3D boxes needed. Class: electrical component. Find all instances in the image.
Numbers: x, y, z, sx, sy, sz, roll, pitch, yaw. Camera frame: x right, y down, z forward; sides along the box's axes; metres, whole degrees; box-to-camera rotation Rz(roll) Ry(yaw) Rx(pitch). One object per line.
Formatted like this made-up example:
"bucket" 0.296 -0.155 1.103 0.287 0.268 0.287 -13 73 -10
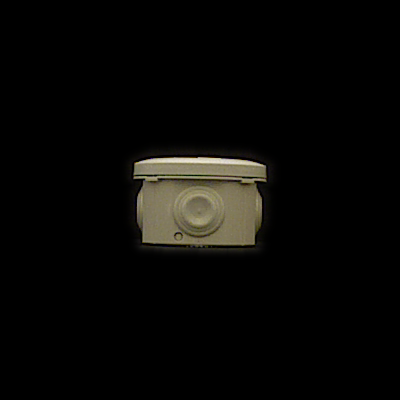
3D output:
"electrical component" 0.000 0.000 0.649 0.080 0.051 0.080 1 0 0
